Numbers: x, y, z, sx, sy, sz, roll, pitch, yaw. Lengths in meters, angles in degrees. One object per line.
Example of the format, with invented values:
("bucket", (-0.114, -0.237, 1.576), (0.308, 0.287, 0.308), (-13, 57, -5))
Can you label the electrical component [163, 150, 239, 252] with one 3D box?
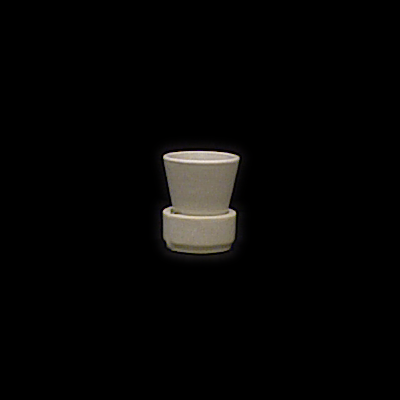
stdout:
("electrical component", (0.000, 0.000, 0.644), (0.045, 0.055, 0.044), (1, 12, 0))
